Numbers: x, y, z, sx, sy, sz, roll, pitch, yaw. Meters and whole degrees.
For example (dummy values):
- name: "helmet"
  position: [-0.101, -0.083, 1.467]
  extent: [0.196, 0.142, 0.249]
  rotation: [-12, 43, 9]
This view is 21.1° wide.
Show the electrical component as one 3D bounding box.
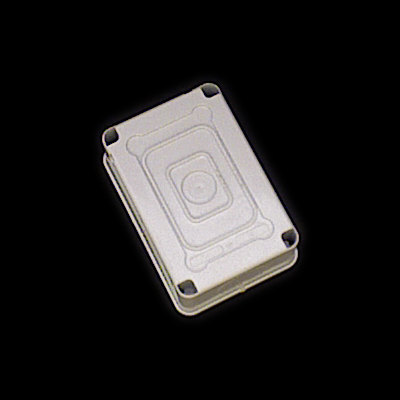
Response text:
- name: "electrical component"
  position: [0.000, 0.000, 0.627]
  extent: [0.078, 0.113, 0.057]
  rotation: [-26, -15, -8]
